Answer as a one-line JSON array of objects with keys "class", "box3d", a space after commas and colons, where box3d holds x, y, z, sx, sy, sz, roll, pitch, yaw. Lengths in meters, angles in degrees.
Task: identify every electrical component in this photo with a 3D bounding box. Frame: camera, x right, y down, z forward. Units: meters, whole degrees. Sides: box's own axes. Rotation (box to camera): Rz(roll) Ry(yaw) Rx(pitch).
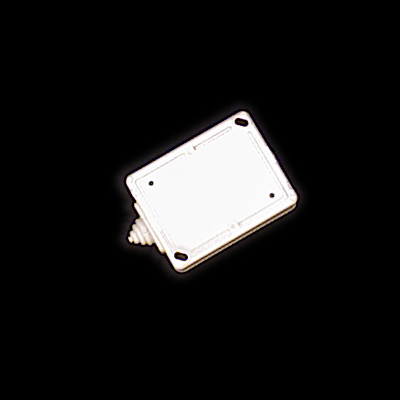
[{"class": "electrical component", "box3d": [0.000, 0.000, 0.629, 0.096, 0.062, 0.061, -30, -6, -2]}]
